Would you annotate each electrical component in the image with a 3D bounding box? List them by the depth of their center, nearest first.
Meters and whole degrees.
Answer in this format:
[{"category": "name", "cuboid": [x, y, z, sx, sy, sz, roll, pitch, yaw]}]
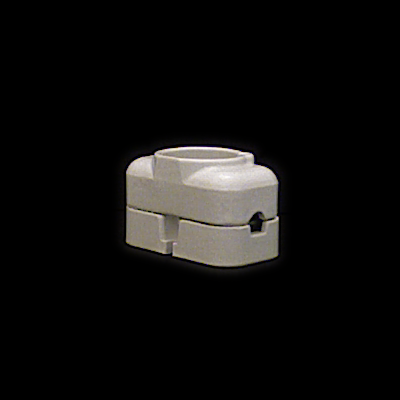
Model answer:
[{"category": "electrical component", "cuboid": [0.000, 0.000, 0.652, 0.094, 0.060, 0.054, 12, 17, 43]}]
